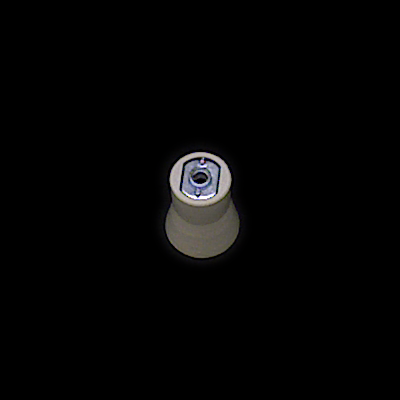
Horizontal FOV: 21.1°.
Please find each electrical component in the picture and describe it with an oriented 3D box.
[{"bbox_3d":[0.000,0.000,0.625,0.044,0.044,0.065,0,-27,1],"label":"electrical component"}]
